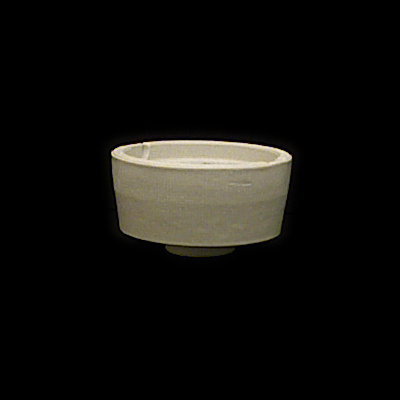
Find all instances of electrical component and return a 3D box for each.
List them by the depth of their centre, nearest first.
[{"bbox_3d":[0.000,0.000,0.650,0.108,0.061,0.107,2,11,0],"label":"electrical component"}]
